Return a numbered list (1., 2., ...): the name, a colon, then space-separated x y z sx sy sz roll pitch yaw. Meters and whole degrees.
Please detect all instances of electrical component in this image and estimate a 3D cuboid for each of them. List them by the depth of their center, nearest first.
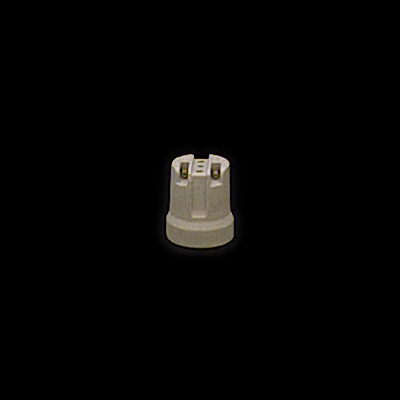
1. electrical component: 0.000 0.000 0.641 0.040 0.046 0.040 1 21 0
